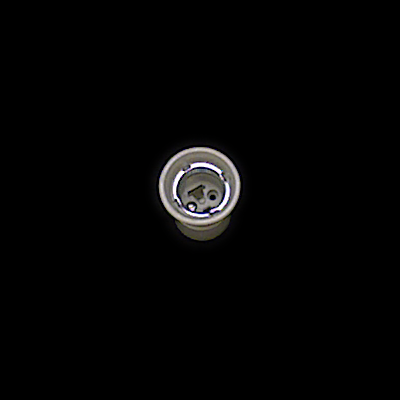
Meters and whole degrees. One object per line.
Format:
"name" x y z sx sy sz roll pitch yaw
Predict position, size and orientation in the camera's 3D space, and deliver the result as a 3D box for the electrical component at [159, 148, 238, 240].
"electrical component" 0.000 0.000 0.623 0.044 0.044 0.065 0 -16 1
